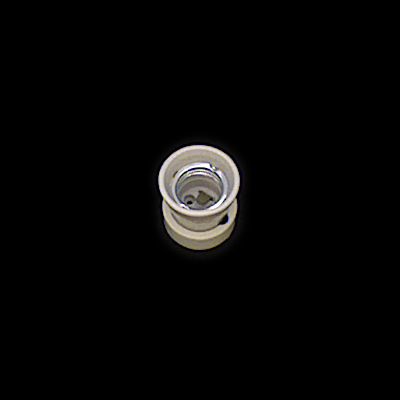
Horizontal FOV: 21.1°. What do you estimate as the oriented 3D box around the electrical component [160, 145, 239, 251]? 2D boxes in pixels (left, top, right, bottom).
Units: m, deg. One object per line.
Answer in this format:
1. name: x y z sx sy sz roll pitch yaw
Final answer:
1. electrical component: 0.000 0.000 0.627 0.045 0.045 0.055 0 -27 0
